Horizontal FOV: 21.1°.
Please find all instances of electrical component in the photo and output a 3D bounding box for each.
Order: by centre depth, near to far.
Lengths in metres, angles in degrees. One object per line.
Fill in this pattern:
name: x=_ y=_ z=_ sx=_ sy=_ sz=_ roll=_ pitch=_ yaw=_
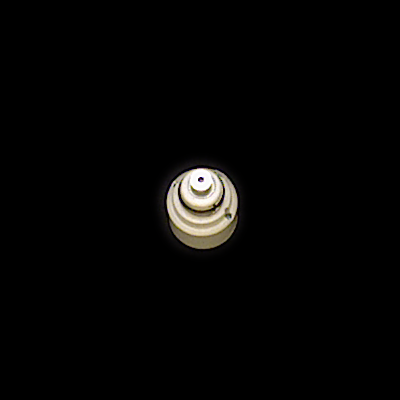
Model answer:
electrical component: x=0.000 y=0.000 z=0.617 sx=0.040 sy=0.040 sz=0.078 roll=0 pitch=-17 yaw=2
